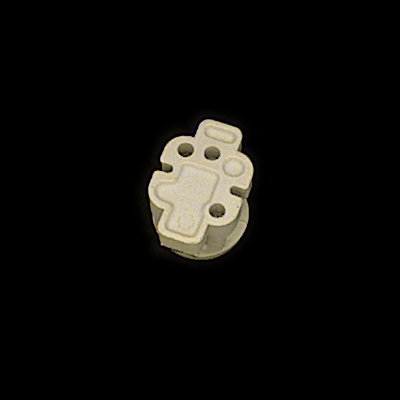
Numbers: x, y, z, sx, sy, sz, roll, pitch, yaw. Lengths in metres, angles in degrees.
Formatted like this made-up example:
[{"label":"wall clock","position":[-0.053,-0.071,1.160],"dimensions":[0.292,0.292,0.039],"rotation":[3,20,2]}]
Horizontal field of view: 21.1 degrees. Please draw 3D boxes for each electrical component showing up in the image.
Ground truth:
[{"label":"electrical component","position":[0.000,0.000,0.635],"dimensions":[0.058,0.079,0.056],"rotation":[17,-24,8]}]
